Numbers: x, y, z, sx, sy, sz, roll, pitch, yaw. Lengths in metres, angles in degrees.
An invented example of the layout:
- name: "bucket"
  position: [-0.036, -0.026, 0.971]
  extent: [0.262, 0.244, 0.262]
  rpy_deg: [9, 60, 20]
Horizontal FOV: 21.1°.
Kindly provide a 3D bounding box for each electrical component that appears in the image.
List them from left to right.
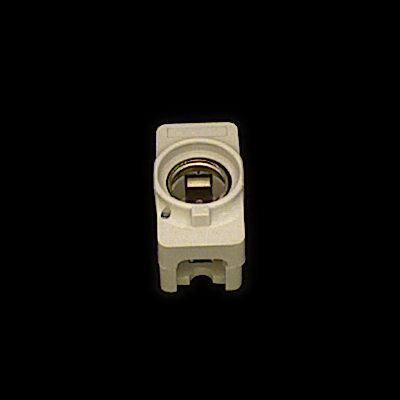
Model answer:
- name: "electrical component"
  position: [0.000, 0.000, 0.637]
  extent: [0.050, 0.089, 0.056]
  rpy_deg: [-2, -37, -2]
